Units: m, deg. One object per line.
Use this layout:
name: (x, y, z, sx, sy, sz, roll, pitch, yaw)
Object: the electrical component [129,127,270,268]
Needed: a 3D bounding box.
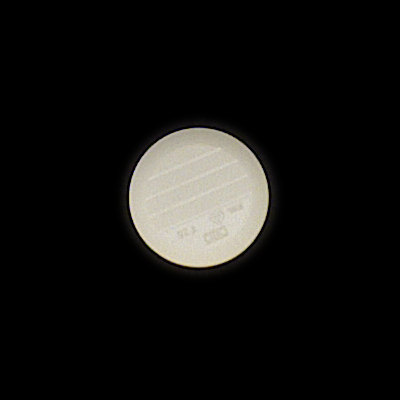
electrical component: (0.000, 0.000, 0.631, 0.080, 0.080, 0.050, 0, -7, 0)
